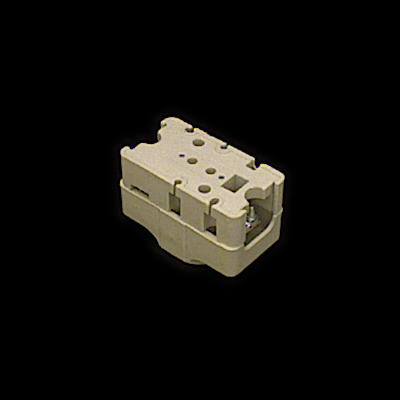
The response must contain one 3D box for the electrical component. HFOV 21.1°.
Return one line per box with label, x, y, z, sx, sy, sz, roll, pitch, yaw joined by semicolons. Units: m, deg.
electrical component;0.000;0.000;0.640;0.088;0.056;0.050;30;50;27
